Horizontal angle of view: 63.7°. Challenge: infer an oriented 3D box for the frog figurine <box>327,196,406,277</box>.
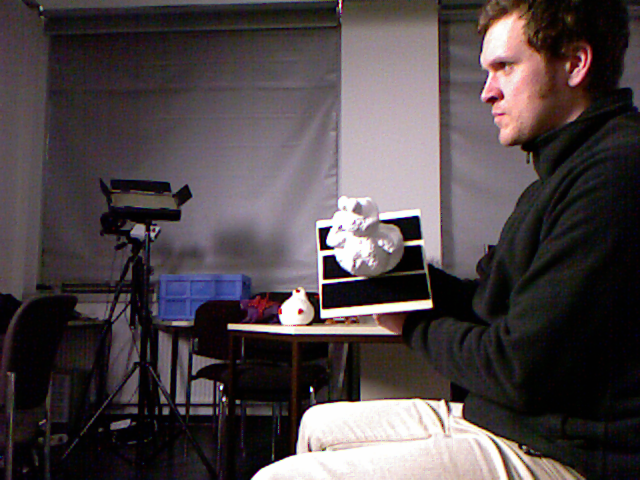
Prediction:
[{"bbox_3d":[0.081,-0.006,0.910,0.138,0.125,0.157,13,-21,15],"label":"frog figurine"}]
